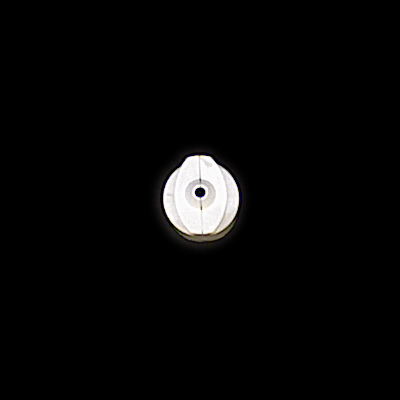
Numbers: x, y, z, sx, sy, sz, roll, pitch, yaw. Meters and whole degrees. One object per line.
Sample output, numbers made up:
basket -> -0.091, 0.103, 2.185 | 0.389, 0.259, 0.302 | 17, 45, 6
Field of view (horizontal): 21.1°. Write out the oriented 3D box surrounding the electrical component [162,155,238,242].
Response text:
electrical component -> 0.000, 0.000, 0.616 | 0.043, 0.043, 0.080 | 0, -6, 1
